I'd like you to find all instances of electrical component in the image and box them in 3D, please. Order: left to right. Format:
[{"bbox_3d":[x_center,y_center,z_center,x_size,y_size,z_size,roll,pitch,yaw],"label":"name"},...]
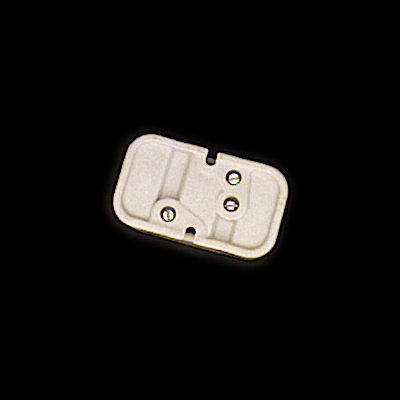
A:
[{"bbox_3d":[0.000,0.000,0.637,0.095,0.054,0.059,15,-5,3],"label":"electrical component"}]
